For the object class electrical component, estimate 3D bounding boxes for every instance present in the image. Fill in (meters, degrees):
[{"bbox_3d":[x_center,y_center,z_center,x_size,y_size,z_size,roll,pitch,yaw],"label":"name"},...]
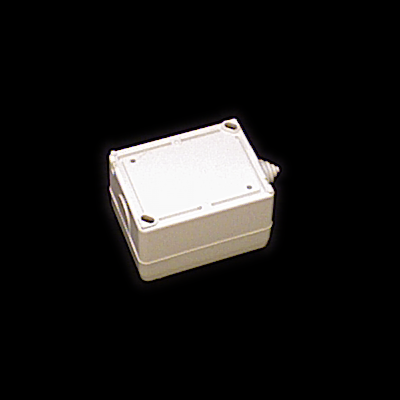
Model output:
[{"bbox_3d":[0.000,0.000,0.628,0.096,0.061,0.061,-16,-36,-13],"label":"electrical component"}]
